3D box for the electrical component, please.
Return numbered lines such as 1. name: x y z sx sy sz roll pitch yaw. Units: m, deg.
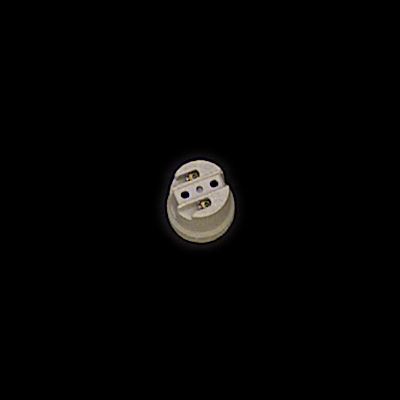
1. electrical component: 0.000 0.000 0.633 0.040 0.040 0.046 0 -17 0
